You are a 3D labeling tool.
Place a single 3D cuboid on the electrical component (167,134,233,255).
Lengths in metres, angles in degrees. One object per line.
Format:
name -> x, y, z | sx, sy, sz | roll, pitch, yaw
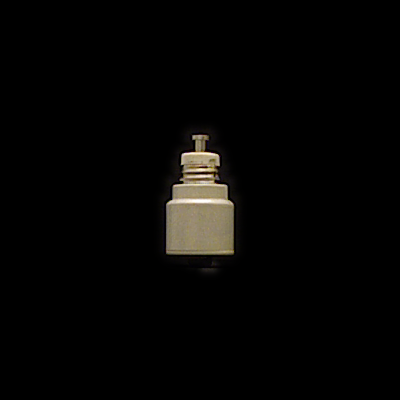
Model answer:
electrical component -> 0.000, 0.000, 0.649 | 0.040, 0.078, 0.040 | 0, 1, 0
